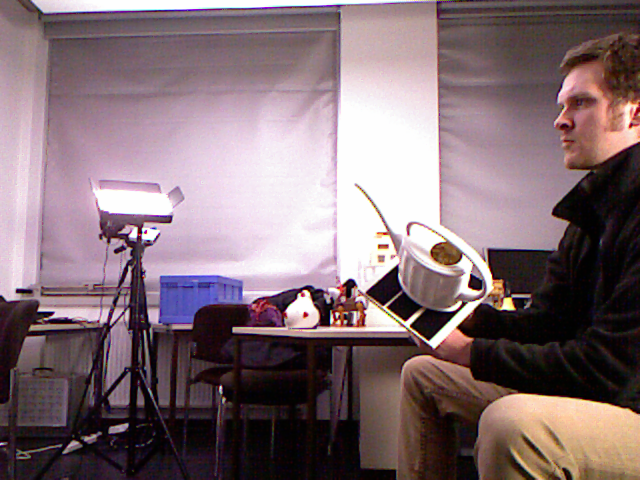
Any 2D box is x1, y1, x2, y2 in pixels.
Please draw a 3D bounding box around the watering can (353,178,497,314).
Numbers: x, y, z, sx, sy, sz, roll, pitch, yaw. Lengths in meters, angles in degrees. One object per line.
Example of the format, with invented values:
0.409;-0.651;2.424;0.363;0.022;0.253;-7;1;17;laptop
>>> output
0.199;0.023;1.055;0.352;0.219;0.106;38;60;25;watering can
